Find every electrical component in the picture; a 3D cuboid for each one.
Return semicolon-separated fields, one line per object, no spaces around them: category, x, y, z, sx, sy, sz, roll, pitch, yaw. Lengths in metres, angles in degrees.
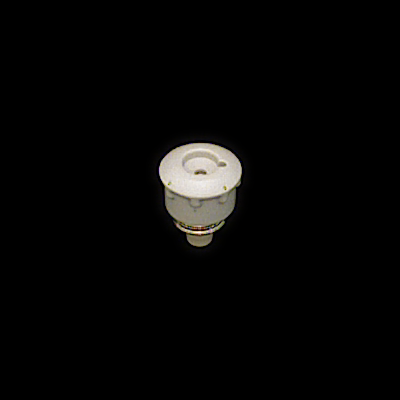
electrical component;0.000;0.000;0.639;0.048;0.062;0.047;1;43;0
